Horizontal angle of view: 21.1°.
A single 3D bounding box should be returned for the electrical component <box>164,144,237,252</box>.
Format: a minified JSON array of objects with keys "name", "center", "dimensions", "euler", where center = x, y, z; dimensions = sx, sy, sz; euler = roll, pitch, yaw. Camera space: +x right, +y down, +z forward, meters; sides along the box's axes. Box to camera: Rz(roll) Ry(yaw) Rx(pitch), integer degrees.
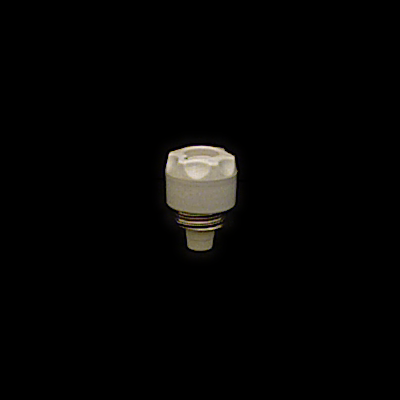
[{"name":"electrical component","center":[0.000,0.000,0.647],"dimensions":[0.043,0.063,0.043],"euler":[1,21,0]}]
